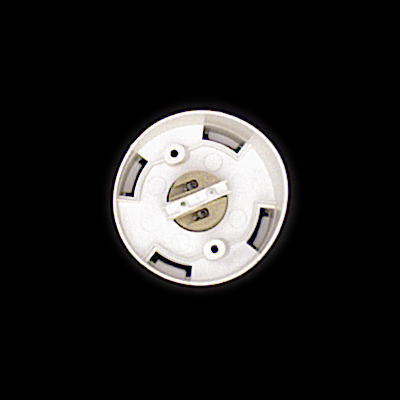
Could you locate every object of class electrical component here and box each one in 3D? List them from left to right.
[{"bbox_3d":[0.000,0.000,0.624,0.099,0.099,0.064,0,-7,-1],"label":"electrical component"}]
